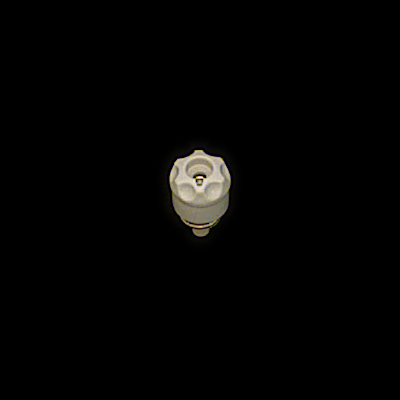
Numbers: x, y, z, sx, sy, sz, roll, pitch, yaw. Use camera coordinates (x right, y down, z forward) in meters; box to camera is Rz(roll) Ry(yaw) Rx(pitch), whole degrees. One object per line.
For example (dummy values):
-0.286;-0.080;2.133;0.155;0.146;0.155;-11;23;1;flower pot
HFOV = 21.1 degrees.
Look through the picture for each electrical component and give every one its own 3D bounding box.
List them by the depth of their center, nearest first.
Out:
0.000;0.000;0.634;0.035;0.035;0.061;0;-37;0;electrical component
